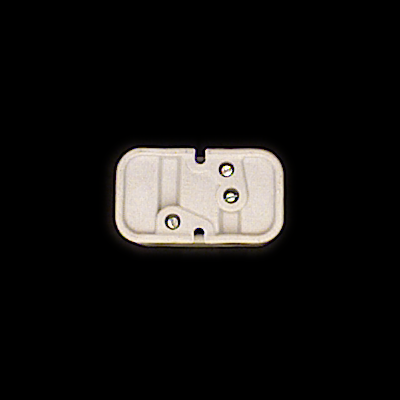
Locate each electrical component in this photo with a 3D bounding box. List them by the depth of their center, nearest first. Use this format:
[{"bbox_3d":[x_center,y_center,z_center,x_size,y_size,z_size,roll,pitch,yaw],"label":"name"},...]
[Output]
[{"bbox_3d":[0.000,0.000,0.637,0.095,0.054,0.059,0,-6,1],"label":"electrical component"}]
